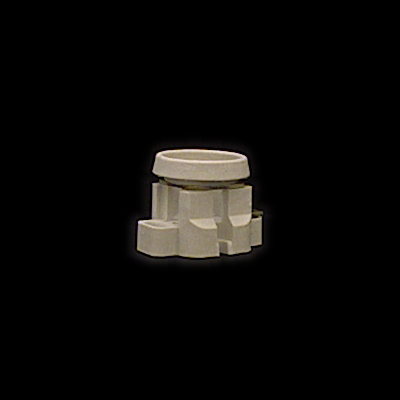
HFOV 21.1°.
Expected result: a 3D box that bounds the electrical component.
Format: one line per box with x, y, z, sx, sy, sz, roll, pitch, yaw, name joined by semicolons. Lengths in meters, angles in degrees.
0.000;0.000;0.646;0.078;0.057;0.057;-5;13;-32;electrical component
